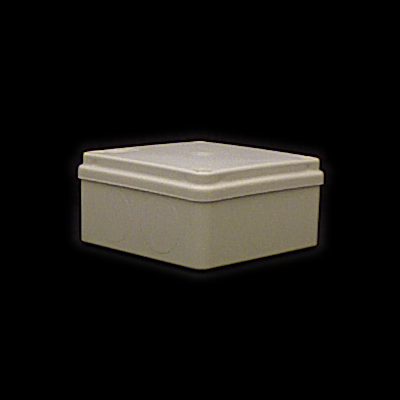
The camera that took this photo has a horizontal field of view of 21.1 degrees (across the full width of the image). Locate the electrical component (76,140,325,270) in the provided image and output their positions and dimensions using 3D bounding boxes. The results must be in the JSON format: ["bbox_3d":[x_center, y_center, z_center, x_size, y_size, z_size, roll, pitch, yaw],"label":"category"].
[{"bbox_3d":[0.000,0.000,0.645,0.108,0.056,0.108,12,15,43],"label":"electrical component"}]
